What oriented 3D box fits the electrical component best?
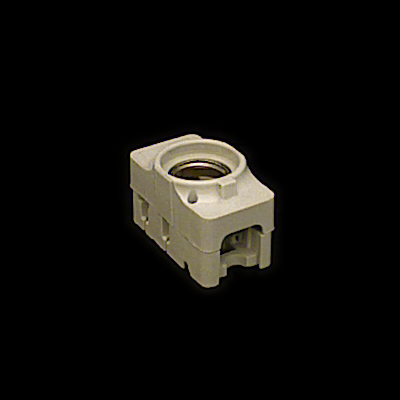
[{"bbox_3d":[0.000,0.000,0.642,0.050,0.056,0.088,-19,37,-28],"label":"electrical component"}]
